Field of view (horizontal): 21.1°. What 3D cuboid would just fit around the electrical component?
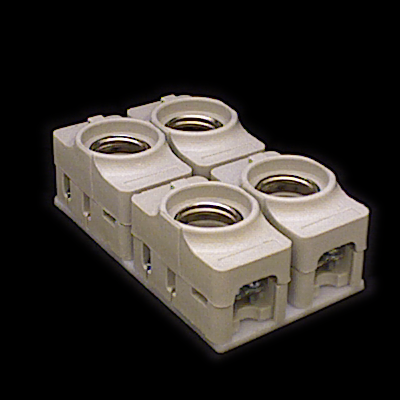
[{"bbox_3d":[0.000,0.000,0.633,0.105,0.061,0.184,-19,36,-29],"label":"electrical component"}]
